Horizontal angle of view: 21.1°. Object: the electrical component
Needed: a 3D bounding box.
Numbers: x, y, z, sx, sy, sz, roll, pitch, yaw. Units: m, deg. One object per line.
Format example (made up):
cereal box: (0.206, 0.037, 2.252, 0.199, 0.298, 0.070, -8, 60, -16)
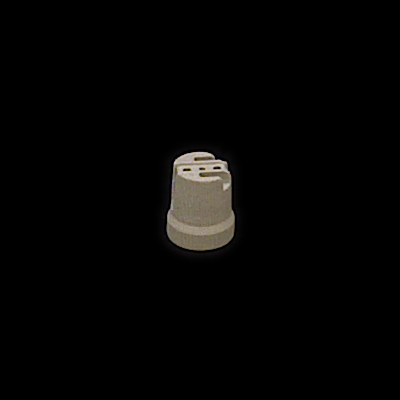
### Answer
electrical component: (0.000, 0.000, 0.638, 0.040, 0.046, 0.040, 1, 33, 0)
